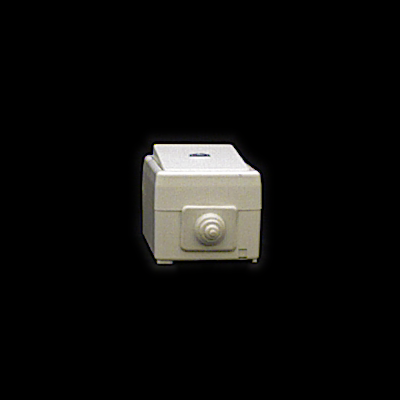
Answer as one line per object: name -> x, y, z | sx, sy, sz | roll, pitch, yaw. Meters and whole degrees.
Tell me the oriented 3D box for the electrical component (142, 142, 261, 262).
electrical component -> 0.000, 0.000, 0.641 | 0.062, 0.061, 0.095 | -1, 10, -9
